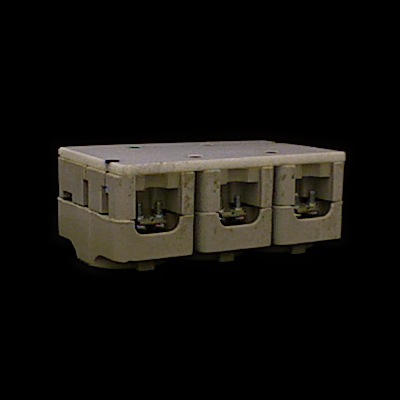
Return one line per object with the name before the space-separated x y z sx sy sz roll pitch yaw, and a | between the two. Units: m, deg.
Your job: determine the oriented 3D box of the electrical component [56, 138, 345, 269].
electrical component | 0.000 0.000 0.647 0.150 0.062 0.088 -5 11 -30
